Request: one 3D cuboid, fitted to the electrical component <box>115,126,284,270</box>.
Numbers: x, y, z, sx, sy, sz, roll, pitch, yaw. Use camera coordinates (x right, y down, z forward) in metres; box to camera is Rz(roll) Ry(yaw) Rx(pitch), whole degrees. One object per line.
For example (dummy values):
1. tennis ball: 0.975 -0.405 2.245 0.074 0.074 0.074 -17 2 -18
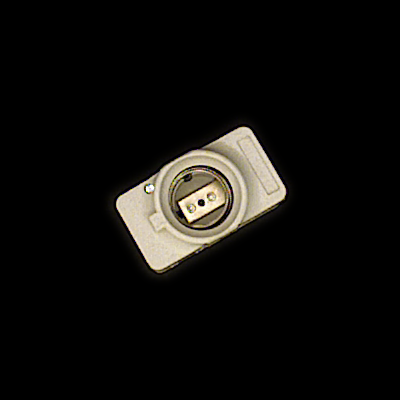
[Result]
1. electrical component: 0.000 0.000 0.637 0.090 0.050 0.055 -30 -5 -3
